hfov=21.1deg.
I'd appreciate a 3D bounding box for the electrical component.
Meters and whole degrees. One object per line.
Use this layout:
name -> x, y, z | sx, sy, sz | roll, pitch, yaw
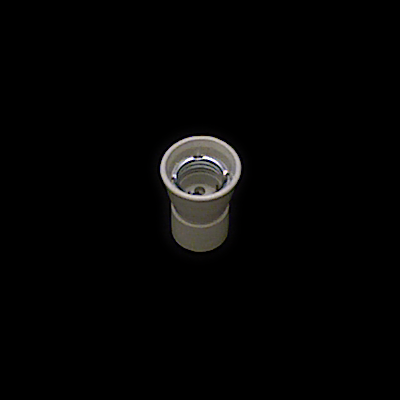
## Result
electrical component -> 0.000, 0.000, 0.625 | 0.044, 0.044, 0.065 | 0, -37, -1
